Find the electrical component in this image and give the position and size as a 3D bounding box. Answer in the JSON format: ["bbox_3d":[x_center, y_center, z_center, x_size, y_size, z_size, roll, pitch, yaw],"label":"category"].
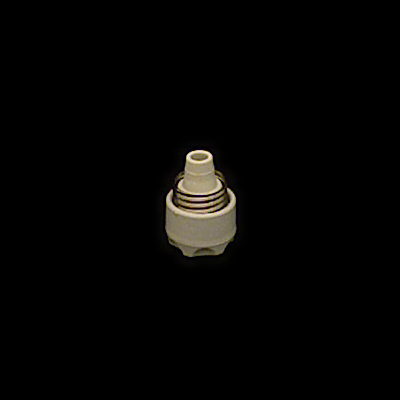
[{"bbox_3d":[0.000,0.000,0.641,0.043,0.063,0.043,0,32,1],"label":"electrical component"}]
